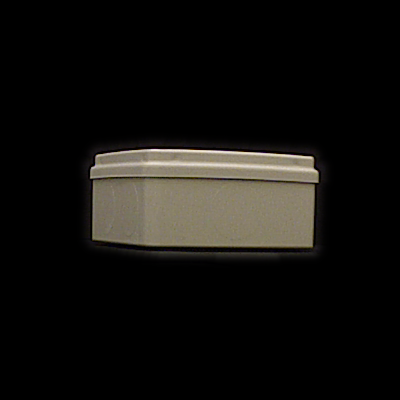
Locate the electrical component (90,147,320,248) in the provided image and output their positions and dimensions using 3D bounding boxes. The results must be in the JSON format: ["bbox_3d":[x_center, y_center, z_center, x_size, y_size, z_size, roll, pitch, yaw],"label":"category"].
[{"bbox_3d":[0.000,0.000,0.649,0.109,0.056,0.108,1,1,-24],"label":"electrical component"}]
